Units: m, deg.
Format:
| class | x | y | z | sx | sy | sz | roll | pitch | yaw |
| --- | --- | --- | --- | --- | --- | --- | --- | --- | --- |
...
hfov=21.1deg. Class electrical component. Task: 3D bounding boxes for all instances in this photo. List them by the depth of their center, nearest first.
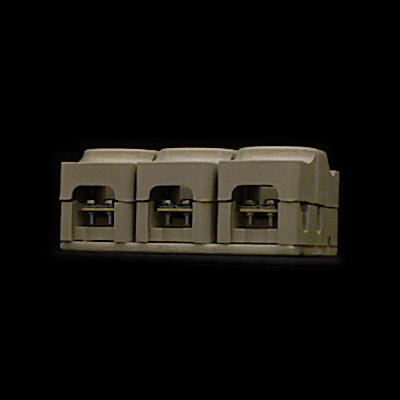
| class | x | y | z | sx | sy | sz | roll | pitch | yaw |
| --- | --- | --- | --- | --- | --- | --- | --- | --- | --- |
| electrical component | 0.000 | 0.000 | 0.658 | 0.150 | 0.062 | 0.090 | 2 | -1 | 22 |
